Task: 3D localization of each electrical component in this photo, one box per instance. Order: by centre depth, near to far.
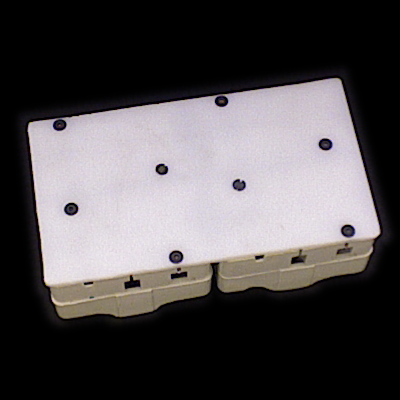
[{"bbox_3d":[0.000,0.000,0.626,0.186,0.105,0.060,-8,-27,-5],"label":"electrical component"}]
